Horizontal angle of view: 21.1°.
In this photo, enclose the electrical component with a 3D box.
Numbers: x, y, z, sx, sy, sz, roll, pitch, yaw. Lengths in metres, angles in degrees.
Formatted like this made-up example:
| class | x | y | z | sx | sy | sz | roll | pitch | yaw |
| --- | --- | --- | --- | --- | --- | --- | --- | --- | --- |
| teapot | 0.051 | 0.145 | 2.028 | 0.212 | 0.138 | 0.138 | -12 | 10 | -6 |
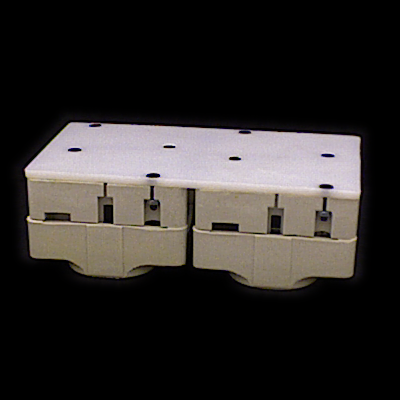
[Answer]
| class | x | y | z | sx | sy | sz | roll | pitch | yaw |
| --- | --- | --- | --- | --- | --- | --- | --- | --- | --- |
| electrical component | 0.000 | 0.000 | 0.638 | 0.186 | 0.061 | 0.104 | 3 | 20 | 7 |
